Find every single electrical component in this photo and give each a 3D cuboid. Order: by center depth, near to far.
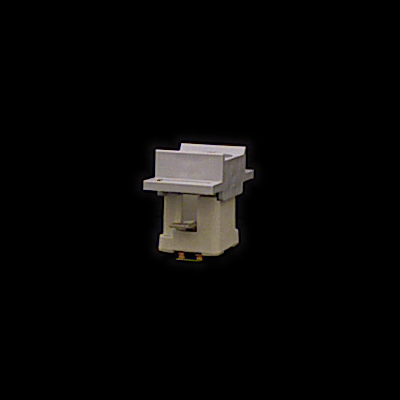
[{"bbox_3d":[0.000,0.000,0.641,0.042,0.064,0.080,6,11,19],"label":"electrical component"}]
